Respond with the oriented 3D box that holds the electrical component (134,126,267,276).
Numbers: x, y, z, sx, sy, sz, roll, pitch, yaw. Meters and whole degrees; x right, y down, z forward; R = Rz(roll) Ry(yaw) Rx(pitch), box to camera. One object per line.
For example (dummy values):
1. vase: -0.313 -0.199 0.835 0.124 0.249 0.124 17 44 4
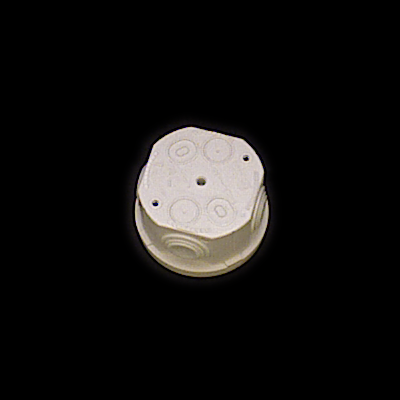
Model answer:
1. electrical component: 0.000 0.000 0.631 0.080 0.080 0.050 0 -27 1
